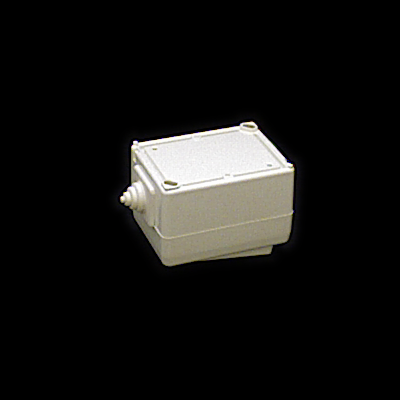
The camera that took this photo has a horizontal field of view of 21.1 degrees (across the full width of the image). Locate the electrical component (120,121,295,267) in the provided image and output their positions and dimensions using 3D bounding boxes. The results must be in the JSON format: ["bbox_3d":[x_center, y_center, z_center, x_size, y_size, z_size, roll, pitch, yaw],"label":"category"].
[{"bbox_3d":[0.000,0.000,0.630,0.096,0.061,0.061,-11,34,-19],"label":"electrical component"}]
